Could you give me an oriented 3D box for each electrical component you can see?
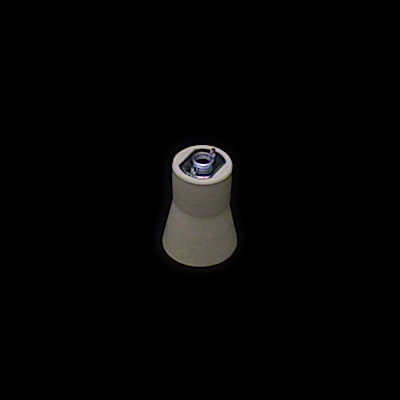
[{"bbox_3d":[0.000,0.000,0.628,0.044,0.066,0.044,1,42,-1],"label":"electrical component"}]
